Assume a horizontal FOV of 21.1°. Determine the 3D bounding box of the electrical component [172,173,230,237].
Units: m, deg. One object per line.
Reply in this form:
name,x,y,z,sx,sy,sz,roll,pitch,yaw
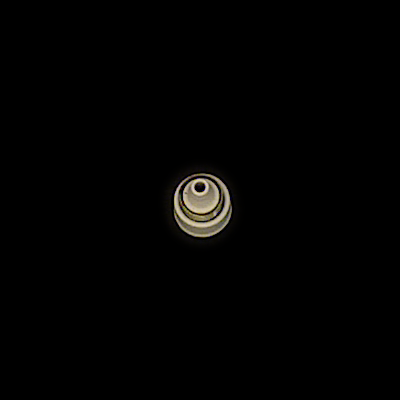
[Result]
electrical component,0.000,0.000,0.637,0.035,0.035,0.061,0,-15,2
